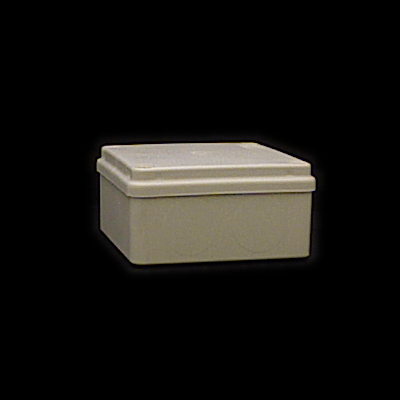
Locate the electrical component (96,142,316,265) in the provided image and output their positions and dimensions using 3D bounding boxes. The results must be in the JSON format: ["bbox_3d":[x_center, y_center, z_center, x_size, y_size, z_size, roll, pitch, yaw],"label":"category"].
[{"bbox_3d":[0.000,0.000,0.643,0.109,0.056,0.107,-2,11,-16],"label":"electrical component"}]
